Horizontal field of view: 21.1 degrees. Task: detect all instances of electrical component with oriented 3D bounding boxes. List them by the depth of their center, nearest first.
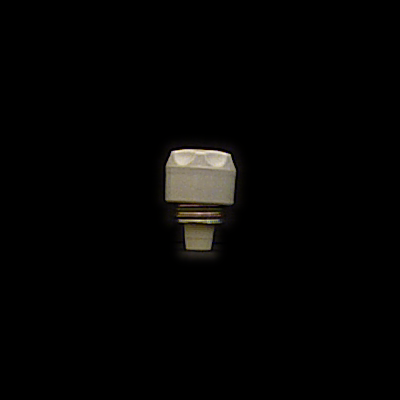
[{"bbox_3d":[0.000,0.000,0.657,0.043,0.062,0.043,2,2,0],"label":"electrical component"}]
